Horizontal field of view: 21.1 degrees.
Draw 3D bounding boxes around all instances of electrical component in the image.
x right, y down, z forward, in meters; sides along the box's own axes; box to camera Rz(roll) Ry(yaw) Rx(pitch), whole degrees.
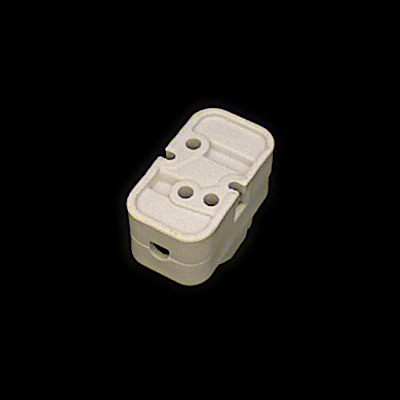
[{"bbox_3d":[0.000,0.000,0.636,0.053,0.095,0.059,26,-34,18],"label":"electrical component"}]
